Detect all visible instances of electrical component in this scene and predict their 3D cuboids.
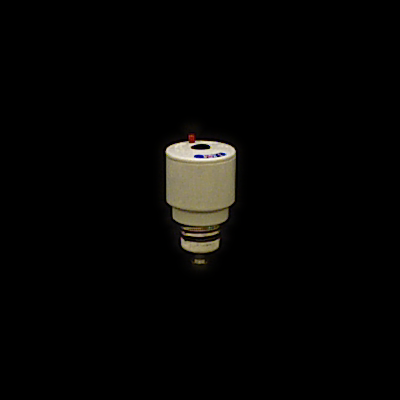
[{"bbox_3d":[0.000,0.000,0.638,0.040,0.079,0.039,1,21,0],"label":"electrical component"}]
